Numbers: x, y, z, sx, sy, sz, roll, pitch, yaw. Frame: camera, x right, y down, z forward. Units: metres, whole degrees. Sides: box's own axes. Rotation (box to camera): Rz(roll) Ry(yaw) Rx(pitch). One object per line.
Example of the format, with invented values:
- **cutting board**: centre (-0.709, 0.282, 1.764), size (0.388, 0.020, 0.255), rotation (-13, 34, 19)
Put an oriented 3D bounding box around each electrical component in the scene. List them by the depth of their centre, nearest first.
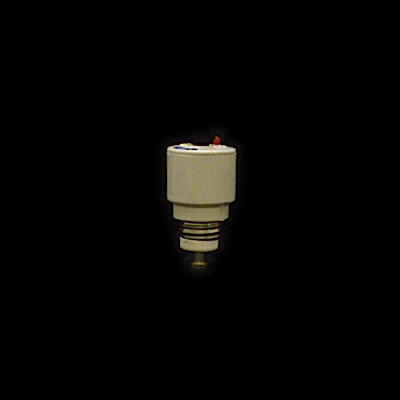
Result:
- **electrical component**: centre (0.000, 0.000, 0.643), size (0.040, 0.079, 0.040), rotation (1, 11, 0)
